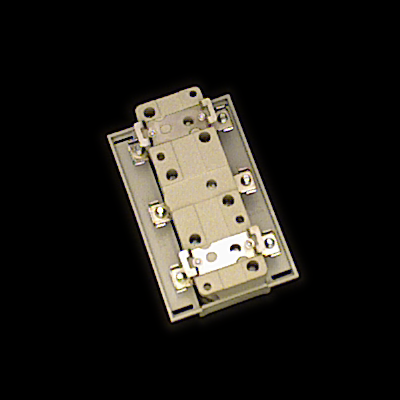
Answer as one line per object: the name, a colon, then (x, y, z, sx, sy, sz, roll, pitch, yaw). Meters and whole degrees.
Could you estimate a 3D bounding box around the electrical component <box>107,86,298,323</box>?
electrical component: (0.000, 0.000, 0.633, 0.079, 0.121, 0.062, -19, -15, -4)
